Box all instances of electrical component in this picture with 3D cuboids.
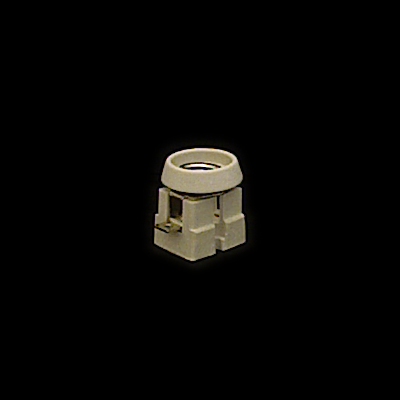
[{"bbox_3d":[0.000,0.000,0.645,0.067,0.056,0.048,-19,28,-41],"label":"electrical component"}]
